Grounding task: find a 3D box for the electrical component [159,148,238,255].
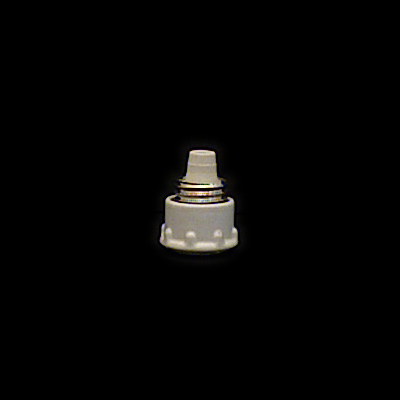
[{"bbox_3d":[0.000,0.000,0.652,0.048,0.062,0.048,2,12,0],"label":"electrical component"}]
